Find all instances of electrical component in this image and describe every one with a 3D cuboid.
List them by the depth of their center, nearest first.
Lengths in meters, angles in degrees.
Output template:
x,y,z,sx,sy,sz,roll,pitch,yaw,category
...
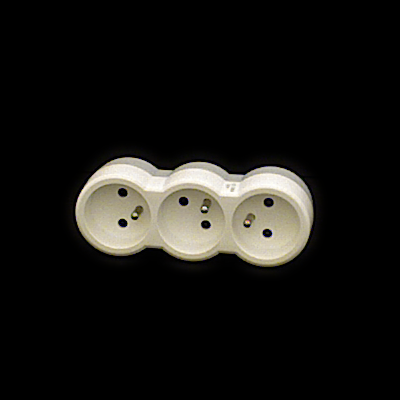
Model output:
x,y,z,sx,sy,sz,roll,pitch,yaw,category
0.000,0.000,0.650,0.138,0.053,0.073,4,20,7,electrical component
